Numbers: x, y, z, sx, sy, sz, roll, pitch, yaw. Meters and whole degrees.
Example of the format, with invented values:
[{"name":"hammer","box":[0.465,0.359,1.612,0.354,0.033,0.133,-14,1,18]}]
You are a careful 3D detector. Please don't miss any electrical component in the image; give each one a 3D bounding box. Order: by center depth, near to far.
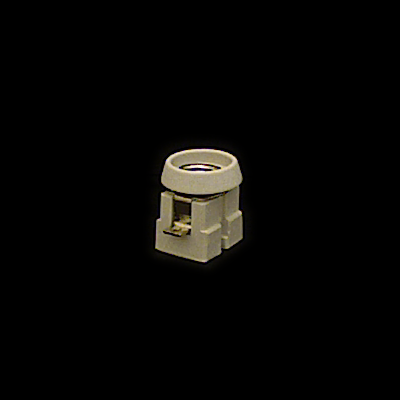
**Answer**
[{"name":"electrical component","box":[0.000,0.000,0.645,0.048,0.056,0.066,11,24,29]}]
